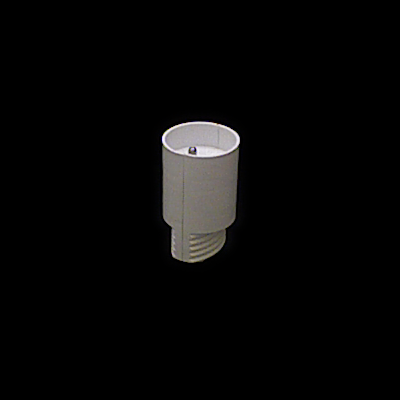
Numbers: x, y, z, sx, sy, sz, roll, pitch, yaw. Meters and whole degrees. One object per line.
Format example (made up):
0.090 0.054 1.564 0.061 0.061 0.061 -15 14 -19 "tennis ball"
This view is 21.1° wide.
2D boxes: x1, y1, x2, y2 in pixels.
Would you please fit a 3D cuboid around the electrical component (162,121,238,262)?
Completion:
0.000 0.000 0.626 0.043 0.082 0.042 0 32 0 "electrical component"
